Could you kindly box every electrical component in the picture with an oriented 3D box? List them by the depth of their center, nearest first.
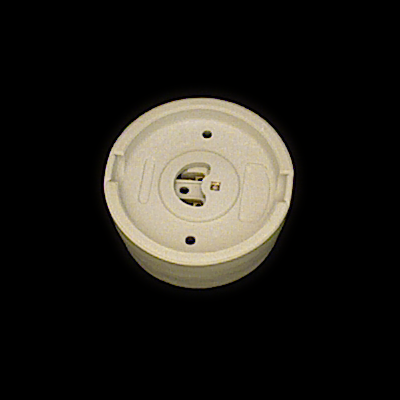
[{"bbox_3d":[0.000,0.000,0.635,0.108,0.108,0.060,0,-27,0],"label":"electrical component"}]
